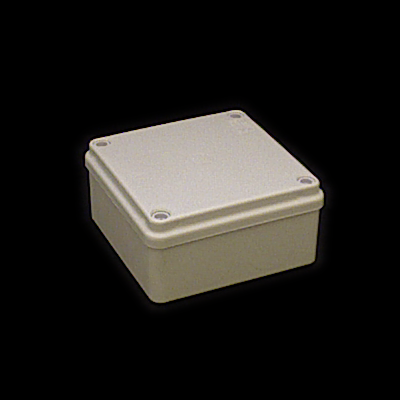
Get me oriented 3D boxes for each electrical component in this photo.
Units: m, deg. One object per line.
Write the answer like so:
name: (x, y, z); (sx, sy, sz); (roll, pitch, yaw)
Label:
electrical component: (0.000, 0.000, 0.634); (0.109, 0.057, 0.107); (-14, 34, -21)
